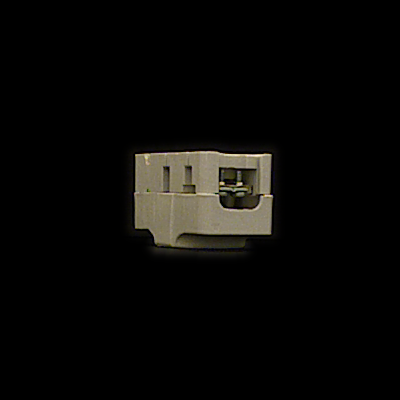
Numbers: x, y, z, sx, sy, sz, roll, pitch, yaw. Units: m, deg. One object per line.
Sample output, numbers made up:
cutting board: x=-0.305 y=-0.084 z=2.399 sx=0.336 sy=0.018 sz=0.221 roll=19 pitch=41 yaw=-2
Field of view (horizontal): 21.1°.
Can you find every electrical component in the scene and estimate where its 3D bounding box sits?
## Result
electrical component: x=0.000 y=0.000 z=0.655 sx=0.050 sy=0.056 sz=0.089 roll=0 pitch=1 yaw=-31
